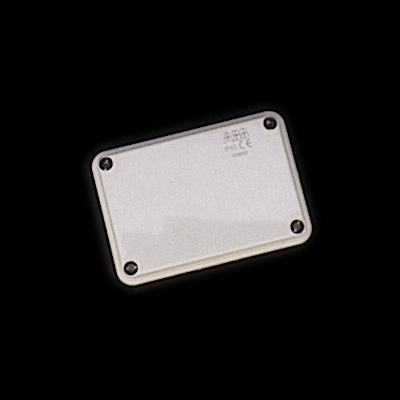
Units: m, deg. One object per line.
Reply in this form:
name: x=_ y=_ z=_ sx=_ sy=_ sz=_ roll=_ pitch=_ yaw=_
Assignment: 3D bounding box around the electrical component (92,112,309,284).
electrical component: x=0.000 y=0.000 z=0.628 sx=0.113 sy=0.078 sz=0.057 roll=-14 pitch=-7 yaw=-1
